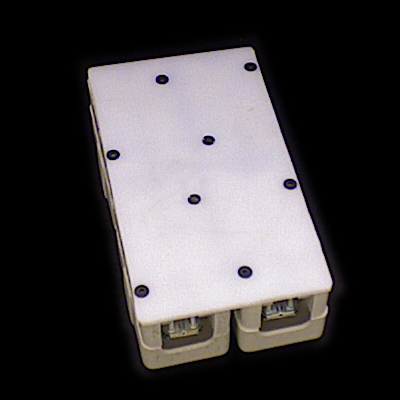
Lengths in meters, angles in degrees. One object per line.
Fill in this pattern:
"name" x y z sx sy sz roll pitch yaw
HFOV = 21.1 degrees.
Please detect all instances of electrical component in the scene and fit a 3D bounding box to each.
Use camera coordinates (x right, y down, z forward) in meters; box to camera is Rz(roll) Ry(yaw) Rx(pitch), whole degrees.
"electrical component" 0.000 0.000 0.627 0.106 0.185 0.060 -9 -37 -8
